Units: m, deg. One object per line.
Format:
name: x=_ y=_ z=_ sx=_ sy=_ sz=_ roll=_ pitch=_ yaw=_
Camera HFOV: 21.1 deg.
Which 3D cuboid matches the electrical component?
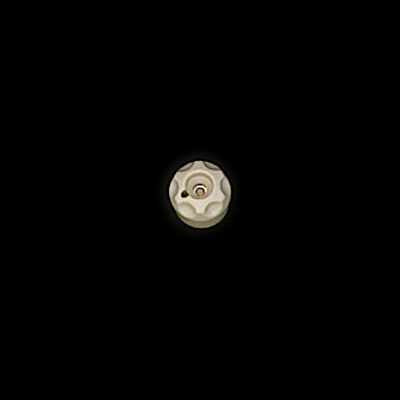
electrical component: x=0.000 y=0.000 z=0.633 sx=0.035 sy=0.035 sz=0.061 roll=0 pitch=-16 yaw=1
